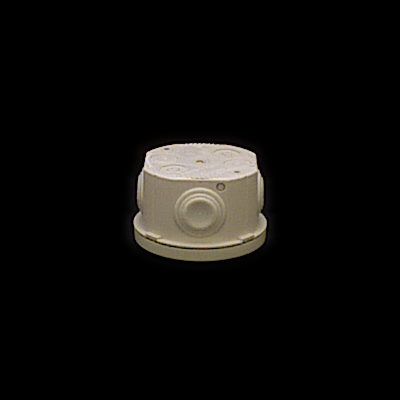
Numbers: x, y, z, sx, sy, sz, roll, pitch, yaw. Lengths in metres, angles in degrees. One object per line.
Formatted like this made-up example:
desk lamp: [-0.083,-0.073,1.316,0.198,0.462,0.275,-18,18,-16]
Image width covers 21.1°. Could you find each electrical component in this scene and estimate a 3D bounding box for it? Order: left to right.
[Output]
electrical component: [0.000,0.000,0.641,0.080,0.051,0.079,1,20,0]
